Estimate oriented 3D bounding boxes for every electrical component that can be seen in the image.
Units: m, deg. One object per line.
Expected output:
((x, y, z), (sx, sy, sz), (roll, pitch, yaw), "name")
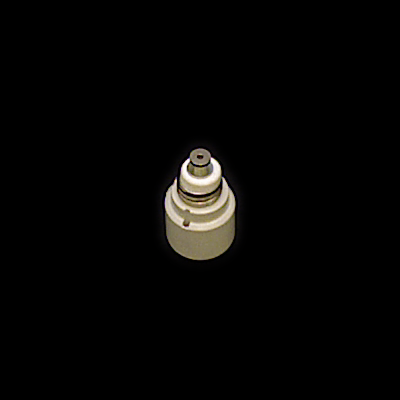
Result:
((0.000, 0.000, 0.622), (0.040, 0.040, 0.079), (0, -37, -1), "electrical component")
